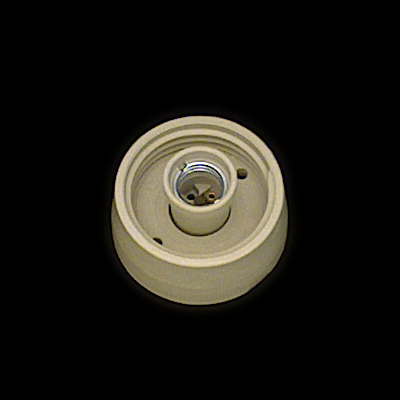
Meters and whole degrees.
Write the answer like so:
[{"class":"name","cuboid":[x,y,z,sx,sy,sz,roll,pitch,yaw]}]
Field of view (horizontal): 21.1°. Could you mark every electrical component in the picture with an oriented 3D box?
[{"class":"electrical component","cuboid":[0.000,0.000,0.633,0.108,0.108,0.060,0,-27,0]}]
